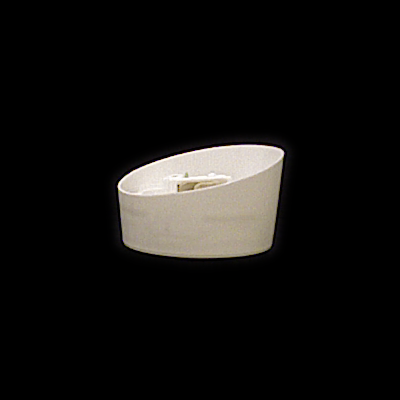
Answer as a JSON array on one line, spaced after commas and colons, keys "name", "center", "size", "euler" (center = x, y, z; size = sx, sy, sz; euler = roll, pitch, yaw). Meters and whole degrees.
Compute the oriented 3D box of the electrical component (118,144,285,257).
[{"name": "electrical component", "center": [0.000, 0.000, 0.645], "size": [0.099, 0.064, 0.098], "euler": [2, 9, 0]}]
